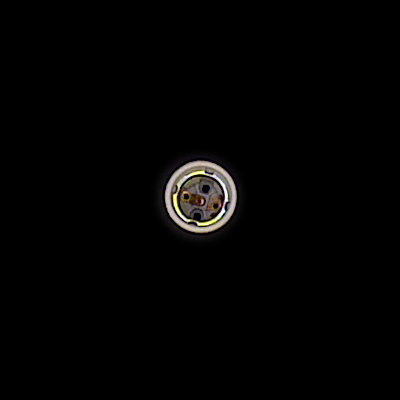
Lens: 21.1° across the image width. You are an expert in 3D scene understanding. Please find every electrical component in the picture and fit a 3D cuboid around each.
[{"bbox_3d":[0.000,0.000,0.627,0.040,0.040,0.046,0,-6,0],"label":"electrical component"}]
